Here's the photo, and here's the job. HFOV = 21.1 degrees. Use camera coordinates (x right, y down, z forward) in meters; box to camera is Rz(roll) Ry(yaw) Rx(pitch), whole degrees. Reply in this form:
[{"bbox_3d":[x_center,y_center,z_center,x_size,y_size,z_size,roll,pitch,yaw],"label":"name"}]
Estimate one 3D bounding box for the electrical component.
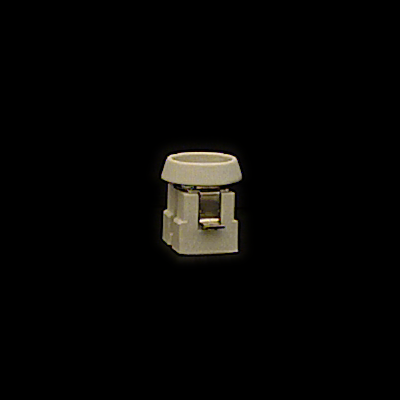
[{"bbox_3d":[0.000,0.000,0.651,0.048,0.056,0.065,-4,13,-16],"label":"electrical component"}]
